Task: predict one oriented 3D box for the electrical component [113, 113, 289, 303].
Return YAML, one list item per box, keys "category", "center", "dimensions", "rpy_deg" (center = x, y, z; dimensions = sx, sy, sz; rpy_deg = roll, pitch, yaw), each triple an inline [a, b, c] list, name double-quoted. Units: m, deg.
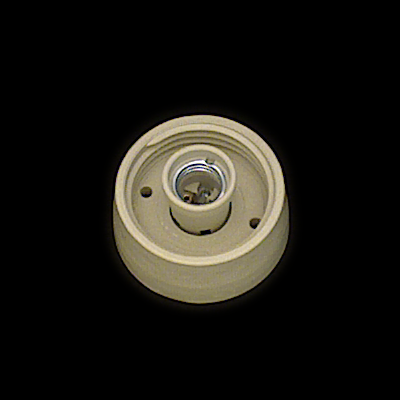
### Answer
- category: "electrical component"
  center: [0.000, 0.000, 0.634]
  dimensions: [0.108, 0.108, 0.060]
  rpy_deg: [0, -27, 0]
